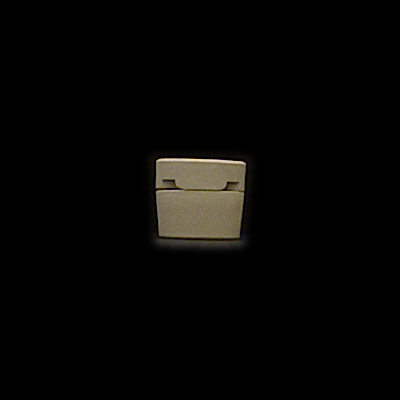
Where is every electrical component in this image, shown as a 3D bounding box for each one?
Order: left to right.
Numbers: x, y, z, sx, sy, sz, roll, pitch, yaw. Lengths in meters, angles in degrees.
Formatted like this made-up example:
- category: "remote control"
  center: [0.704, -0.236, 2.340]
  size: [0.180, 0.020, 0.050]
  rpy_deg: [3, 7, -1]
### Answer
- category: "electrical component"
  center: [0.000, 0.000, 0.651]
  size: [0.055, 0.047, 0.055]
  rpy_deg: [1, 1, 0]
